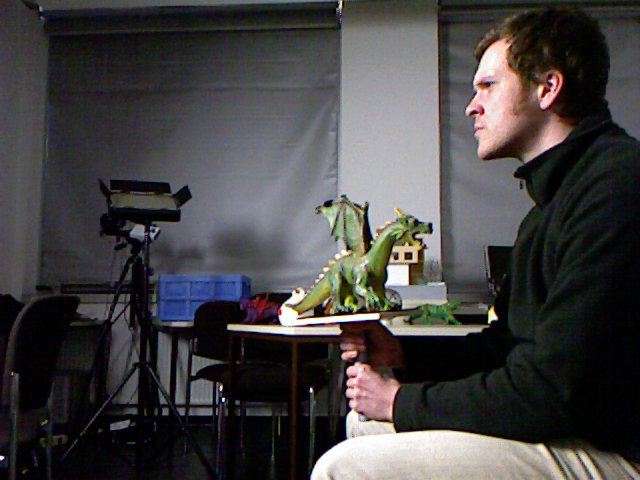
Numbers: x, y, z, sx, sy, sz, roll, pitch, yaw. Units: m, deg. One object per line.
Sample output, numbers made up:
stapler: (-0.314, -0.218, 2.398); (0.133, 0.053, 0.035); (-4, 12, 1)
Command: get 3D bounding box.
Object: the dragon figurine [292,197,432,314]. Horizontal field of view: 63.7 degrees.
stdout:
dragon figurine: (0.053, 0.032, 1.066); (0.122, 0.244, 0.408); (-2, -6, -45)
